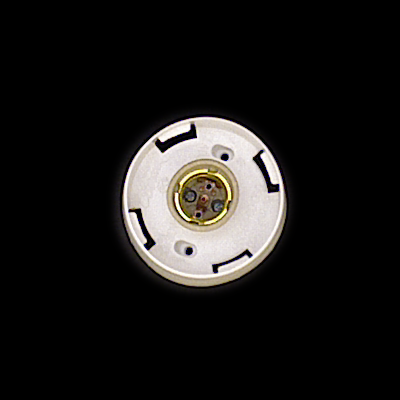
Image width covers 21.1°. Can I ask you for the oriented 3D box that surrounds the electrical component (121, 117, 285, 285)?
[{"bbox_3d":[0.000,0.000,0.625,0.099,0.099,0.064,0,-7,1],"label":"electrical component"}]
